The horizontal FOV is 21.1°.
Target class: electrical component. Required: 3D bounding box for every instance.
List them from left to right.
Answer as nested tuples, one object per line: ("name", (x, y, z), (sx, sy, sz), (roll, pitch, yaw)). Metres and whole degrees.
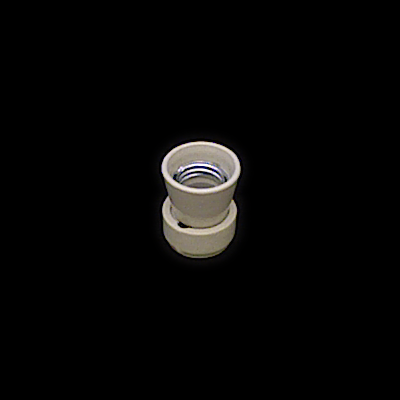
("electrical component", (0.000, 0.000, 0.632), (0.045, 0.056, 0.044), (1, 43, -1))
